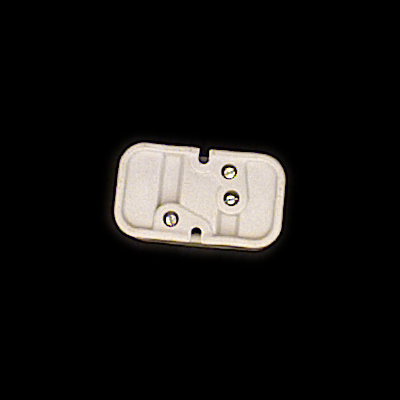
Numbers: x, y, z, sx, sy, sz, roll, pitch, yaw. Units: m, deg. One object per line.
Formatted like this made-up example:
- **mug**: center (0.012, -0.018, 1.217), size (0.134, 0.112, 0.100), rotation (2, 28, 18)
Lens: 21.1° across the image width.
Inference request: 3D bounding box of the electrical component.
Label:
- **electrical component**: center (0.000, 0.000, 0.637), size (0.095, 0.054, 0.059), rotation (5, -6, 2)
